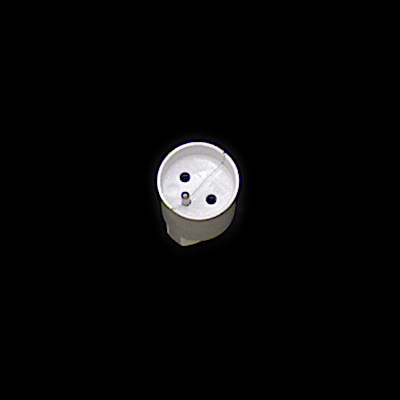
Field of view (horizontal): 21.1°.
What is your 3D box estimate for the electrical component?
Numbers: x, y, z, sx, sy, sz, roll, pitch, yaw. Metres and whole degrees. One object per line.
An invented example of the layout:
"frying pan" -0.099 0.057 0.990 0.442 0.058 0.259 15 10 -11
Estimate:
"electrical component" 0.000 0.000 0.614 0.043 0.043 0.080 0 -16 1
